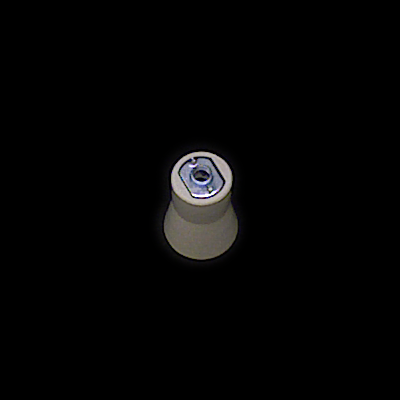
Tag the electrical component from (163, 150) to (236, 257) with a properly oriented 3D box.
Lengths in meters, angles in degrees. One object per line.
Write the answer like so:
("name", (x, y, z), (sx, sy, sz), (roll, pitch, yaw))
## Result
("electrical component", (0.000, 0.000, 0.625), (0.044, 0.044, 0.065), (0, -28, -1))
